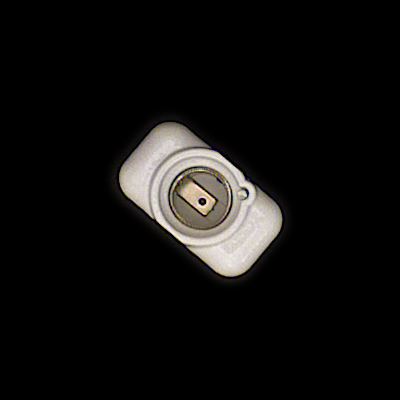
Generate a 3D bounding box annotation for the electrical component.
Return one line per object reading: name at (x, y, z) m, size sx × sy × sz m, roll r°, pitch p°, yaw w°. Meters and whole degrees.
electrical component at (0.000, 0.000, 0.635) m, size 0.095 × 0.054 × 0.059 m, roll 39°, pitch -3°, yaw 4°
